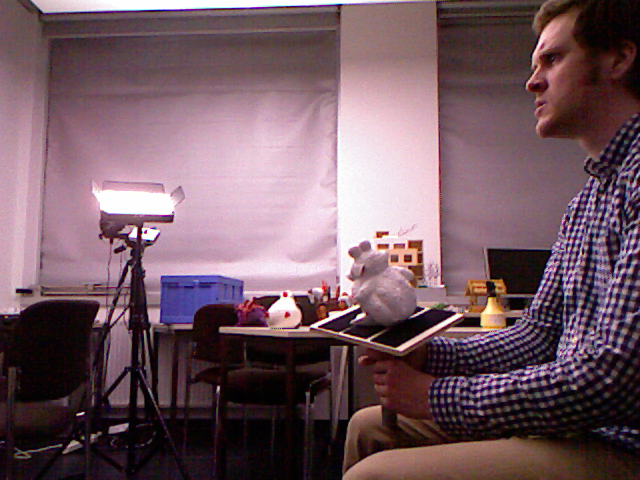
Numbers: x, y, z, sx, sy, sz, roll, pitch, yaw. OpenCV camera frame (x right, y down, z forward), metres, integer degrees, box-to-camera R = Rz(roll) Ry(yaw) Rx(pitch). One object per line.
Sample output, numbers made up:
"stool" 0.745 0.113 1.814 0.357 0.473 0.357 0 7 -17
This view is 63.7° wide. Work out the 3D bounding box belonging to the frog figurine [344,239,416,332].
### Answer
"frog figurine" 0.110 0.076 0.923 0.138 0.157 0.124 -12 20 -26
